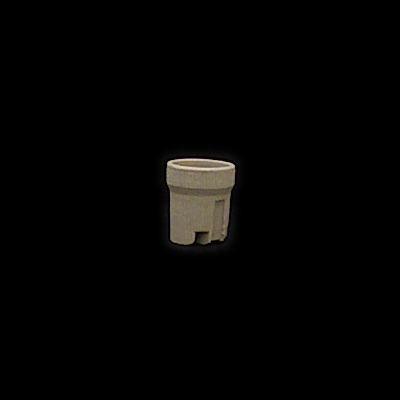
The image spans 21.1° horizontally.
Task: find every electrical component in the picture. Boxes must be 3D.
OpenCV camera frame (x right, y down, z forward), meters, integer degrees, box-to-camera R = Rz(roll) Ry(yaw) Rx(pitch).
[{"bbox_3d":[0.000,0.000,0.643,0.040,0.046,0.040,1,11,0],"label":"electrical component"}]
